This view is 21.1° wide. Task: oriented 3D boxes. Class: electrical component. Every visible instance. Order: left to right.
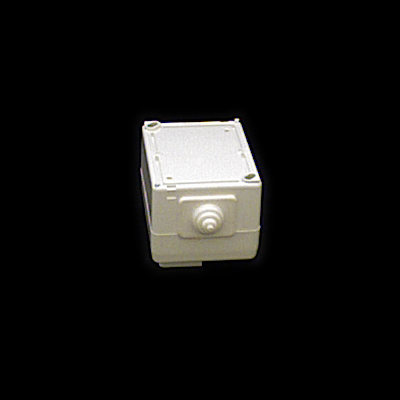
[{"bbox_3d":[0.000,0.000,0.628,0.062,0.061,0.095,-3,31,-7],"label":"electrical component"}]
